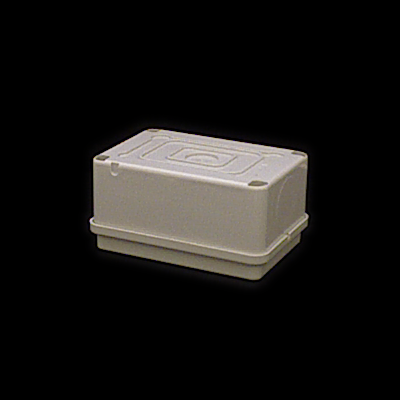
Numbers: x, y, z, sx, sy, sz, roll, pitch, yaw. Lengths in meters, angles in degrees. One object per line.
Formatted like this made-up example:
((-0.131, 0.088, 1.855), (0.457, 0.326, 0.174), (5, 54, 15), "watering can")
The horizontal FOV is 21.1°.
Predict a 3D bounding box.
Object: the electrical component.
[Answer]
((0.000, 0.000, 0.639), (0.112, 0.058, 0.077), (11, 23, 23), "electrical component")
